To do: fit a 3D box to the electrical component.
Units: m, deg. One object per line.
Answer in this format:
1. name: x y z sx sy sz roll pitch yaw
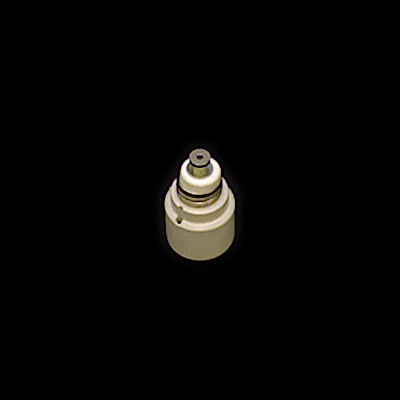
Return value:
1. electrical component: 0.000 0.000 0.622 0.040 0.040 0.079 0 -37 0
